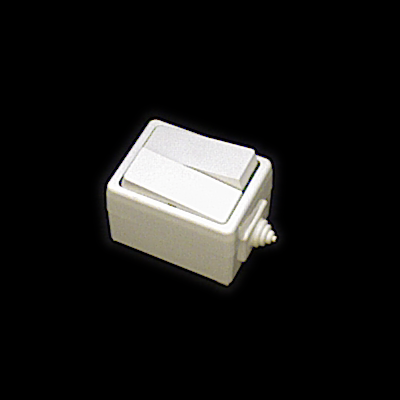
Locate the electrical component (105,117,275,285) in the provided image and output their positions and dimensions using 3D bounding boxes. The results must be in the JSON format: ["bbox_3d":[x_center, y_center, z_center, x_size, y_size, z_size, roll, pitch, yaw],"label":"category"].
[{"bbox_3d":[0.000,0.000,0.628,0.096,0.062,0.061,21,-35,15],"label":"electrical component"}]
